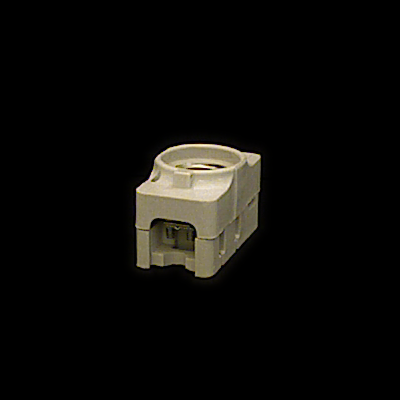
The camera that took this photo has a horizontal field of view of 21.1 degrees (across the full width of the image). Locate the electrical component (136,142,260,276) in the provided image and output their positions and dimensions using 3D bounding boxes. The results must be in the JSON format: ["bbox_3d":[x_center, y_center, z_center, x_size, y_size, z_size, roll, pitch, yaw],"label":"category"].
[{"bbox_3d":[0.000,0.000,0.646,0.050,0.056,0.089,9,23,18],"label":"electrical component"}]
